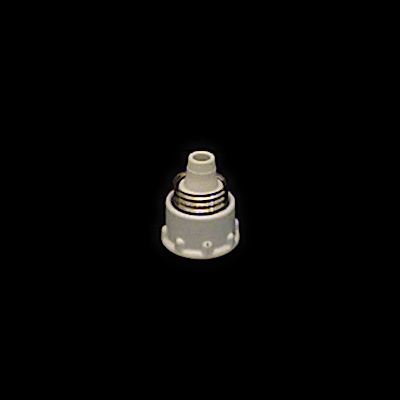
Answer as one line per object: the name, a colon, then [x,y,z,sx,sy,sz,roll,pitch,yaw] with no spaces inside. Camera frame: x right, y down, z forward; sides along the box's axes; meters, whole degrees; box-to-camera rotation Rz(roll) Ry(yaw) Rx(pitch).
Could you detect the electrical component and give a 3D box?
electrical component: [0.000,0.000,0.643,0.048,0.063,0.047,1,31,0]
